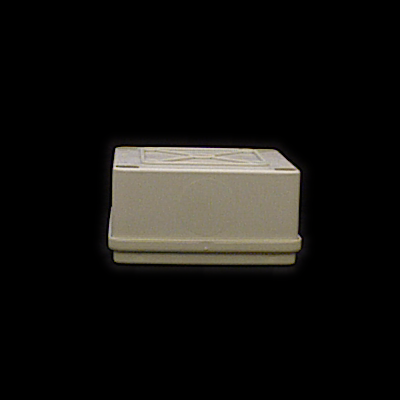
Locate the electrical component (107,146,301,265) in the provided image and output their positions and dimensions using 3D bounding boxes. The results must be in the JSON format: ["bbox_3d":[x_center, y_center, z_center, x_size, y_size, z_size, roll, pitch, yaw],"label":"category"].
[{"bbox_3d":[0.000,0.000,0.647,0.109,0.056,0.108,1,10,-4],"label":"electrical component"}]
